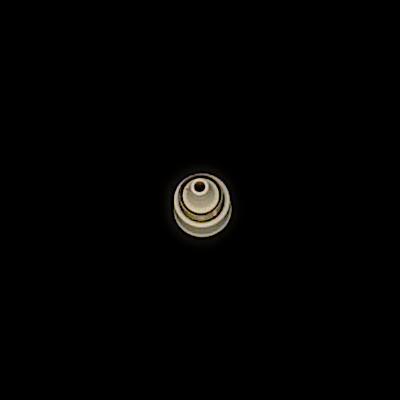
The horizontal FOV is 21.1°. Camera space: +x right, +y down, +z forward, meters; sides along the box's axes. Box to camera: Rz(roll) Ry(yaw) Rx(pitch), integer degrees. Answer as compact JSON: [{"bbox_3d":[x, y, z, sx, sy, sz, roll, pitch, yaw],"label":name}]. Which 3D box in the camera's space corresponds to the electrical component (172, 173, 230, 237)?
[{"bbox_3d":[0.000,0.000,0.637,0.035,0.035,0.061,0,-16,3],"label":"electrical component"}]
